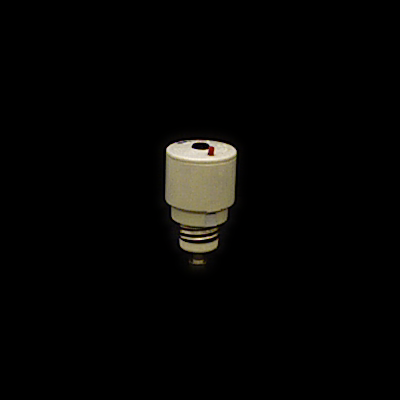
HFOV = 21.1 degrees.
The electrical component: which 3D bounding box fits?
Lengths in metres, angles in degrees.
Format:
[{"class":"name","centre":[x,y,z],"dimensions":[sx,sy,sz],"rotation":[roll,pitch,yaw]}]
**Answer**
[{"class":"electrical component","centre":[0.000,0.000,0.633],"dimensions":[0.040,0.079,0.039],"rotation":[1,21,0]}]
